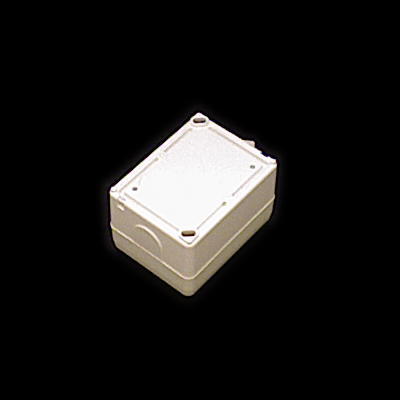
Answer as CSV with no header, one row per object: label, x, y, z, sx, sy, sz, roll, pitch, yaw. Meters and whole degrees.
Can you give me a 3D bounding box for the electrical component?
electrical component,0.000,0.000,0.629,0.061,0.061,0.096,33,58,23
